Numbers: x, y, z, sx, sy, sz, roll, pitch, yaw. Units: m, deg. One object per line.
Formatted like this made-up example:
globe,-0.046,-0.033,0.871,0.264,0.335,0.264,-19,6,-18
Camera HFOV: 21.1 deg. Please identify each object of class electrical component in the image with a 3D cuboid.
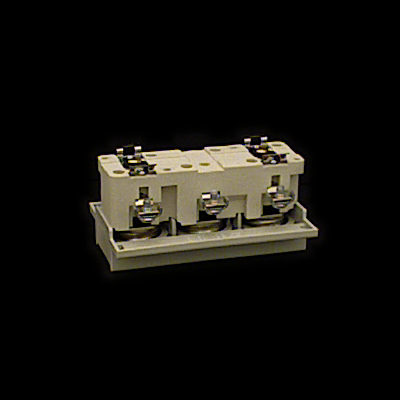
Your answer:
electrical component,0.000,0.000,0.648,0.122,0.064,0.077,-5,22,-17
